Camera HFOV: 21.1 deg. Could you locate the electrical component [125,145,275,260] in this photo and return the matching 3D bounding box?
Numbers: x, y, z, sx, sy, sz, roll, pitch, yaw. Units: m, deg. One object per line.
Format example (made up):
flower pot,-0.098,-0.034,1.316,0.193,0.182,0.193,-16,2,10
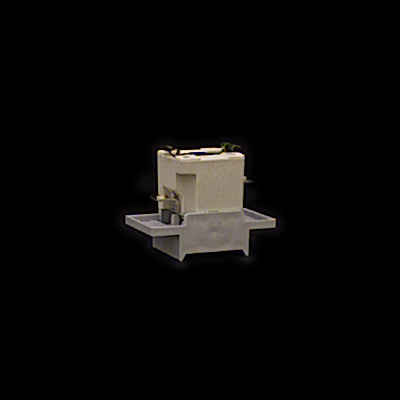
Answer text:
electrical component,0.000,0.000,0.643,0.081,0.064,0.042,-4,12,-25
